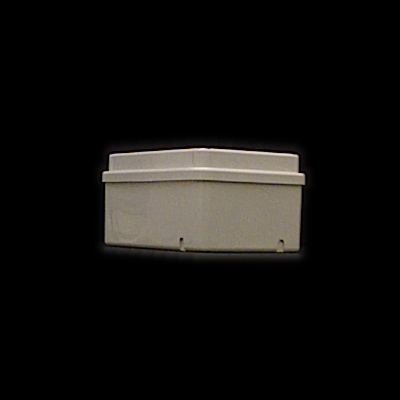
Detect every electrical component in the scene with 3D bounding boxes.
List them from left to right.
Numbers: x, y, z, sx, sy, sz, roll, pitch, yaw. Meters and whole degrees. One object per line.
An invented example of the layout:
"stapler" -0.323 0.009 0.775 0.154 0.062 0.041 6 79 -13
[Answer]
"electrical component" 0.000 0.000 0.648 0.078 0.057 0.112 1 0 -34
